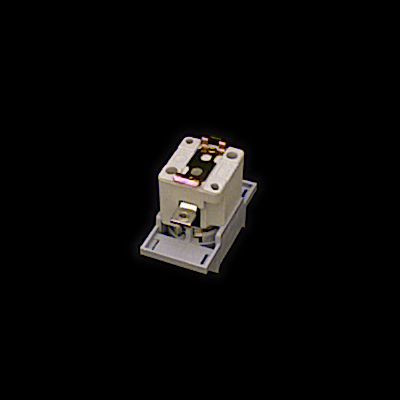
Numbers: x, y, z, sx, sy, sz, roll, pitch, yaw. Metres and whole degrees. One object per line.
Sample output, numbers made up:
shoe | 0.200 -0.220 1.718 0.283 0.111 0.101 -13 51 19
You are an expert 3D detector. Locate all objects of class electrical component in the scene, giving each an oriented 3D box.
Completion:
electrical component | 0.000 0.000 0.630 0.042 0.064 0.080 16 44 16
